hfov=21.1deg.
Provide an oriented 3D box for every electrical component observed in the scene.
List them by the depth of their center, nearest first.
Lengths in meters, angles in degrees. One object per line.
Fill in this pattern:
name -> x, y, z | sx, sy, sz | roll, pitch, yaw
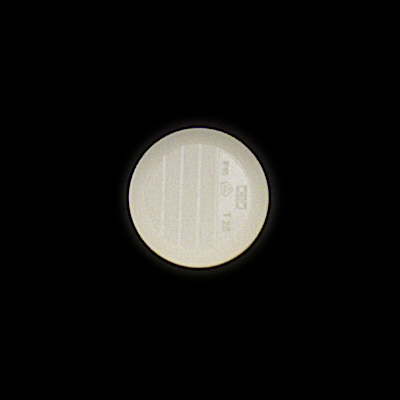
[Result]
electrical component -> 0.000, 0.000, 0.631 | 0.080, 0.080, 0.050 | 0, -6, 0
